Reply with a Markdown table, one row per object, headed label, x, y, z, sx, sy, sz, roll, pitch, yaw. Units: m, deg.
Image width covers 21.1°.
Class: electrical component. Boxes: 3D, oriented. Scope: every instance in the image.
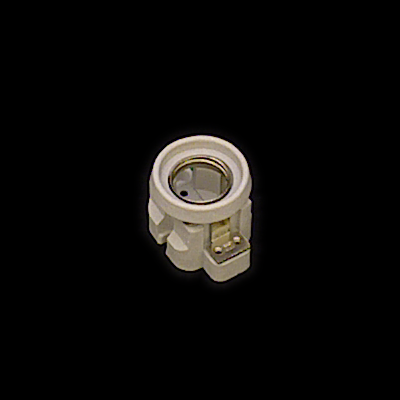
| label | x | y | z | sx | sy | sz | roll | pitch | yaw |
| --- | --- | --- | --- | --- | --- | --- | --- | --- | --- |
| electrical component | 0.000 | 0.000 | 0.629 | 0.058 | 0.078 | 0.057 | -26 | -33 | -19 |
